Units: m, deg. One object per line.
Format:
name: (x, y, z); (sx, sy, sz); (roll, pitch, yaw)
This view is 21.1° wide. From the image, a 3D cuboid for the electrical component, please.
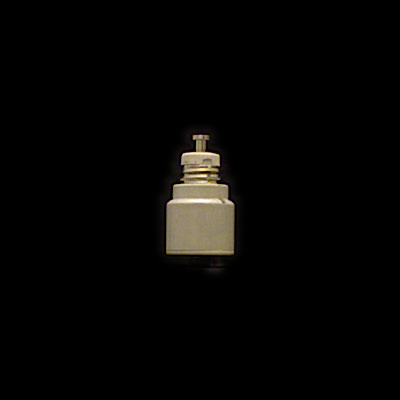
electrical component: (0.000, 0.000, 0.648); (0.040, 0.078, 0.040); (0, 1, 0)
